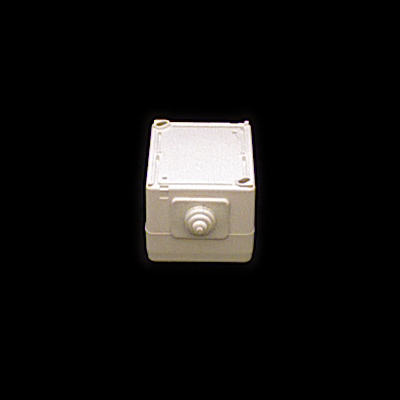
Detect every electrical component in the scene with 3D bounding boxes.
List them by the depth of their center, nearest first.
[{"bbox_3d":[0.000,0.000,0.633,0.062,0.061,0.095,1,32,0],"label":"electrical component"}]
